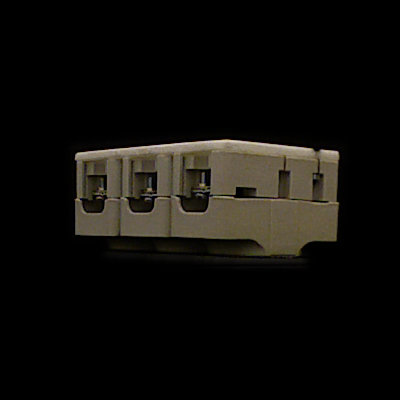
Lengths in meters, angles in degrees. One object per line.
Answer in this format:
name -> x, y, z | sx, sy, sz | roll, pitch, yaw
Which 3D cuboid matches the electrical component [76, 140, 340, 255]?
electrical component -> 0.000, 0.000, 0.656 | 0.089, 0.062, 0.150 | 1, 0, -38
